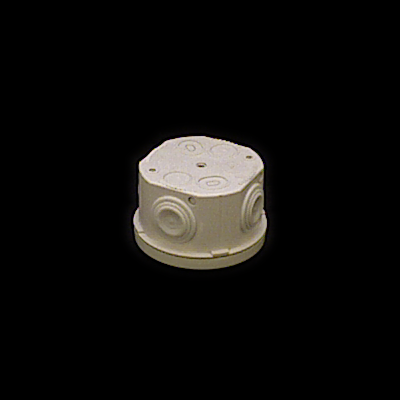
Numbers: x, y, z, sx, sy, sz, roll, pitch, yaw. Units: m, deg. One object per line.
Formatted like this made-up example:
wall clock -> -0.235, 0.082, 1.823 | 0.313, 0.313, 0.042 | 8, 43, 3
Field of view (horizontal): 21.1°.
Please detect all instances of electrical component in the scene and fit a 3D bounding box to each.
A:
electrical component -> 0.000, 0.000, 0.638 | 0.080, 0.051, 0.079 | 1, 31, -1
